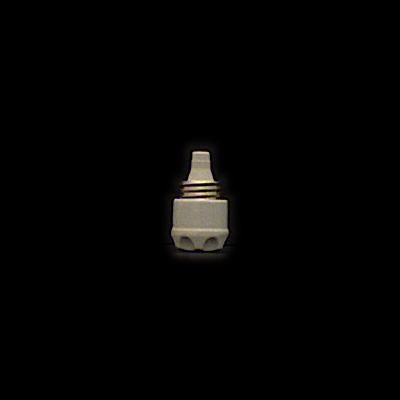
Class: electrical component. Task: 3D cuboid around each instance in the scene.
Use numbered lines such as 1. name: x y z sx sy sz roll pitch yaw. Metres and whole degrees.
1. electrical component: 0.000 0.000 0.663 0.035 0.061 0.035 0 3 0
